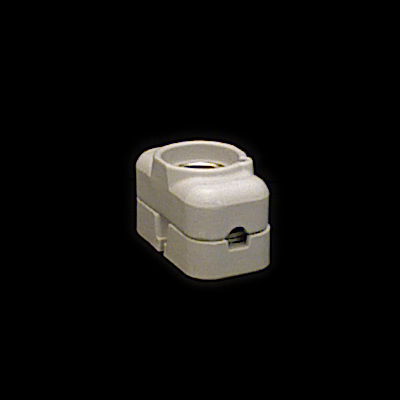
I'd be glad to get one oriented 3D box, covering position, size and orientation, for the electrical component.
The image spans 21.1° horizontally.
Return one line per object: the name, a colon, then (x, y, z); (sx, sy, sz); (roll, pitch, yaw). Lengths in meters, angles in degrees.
electrical component: (0.000, 0.000, 0.646); (0.054, 0.060, 0.093); (-11, 25, -26)
